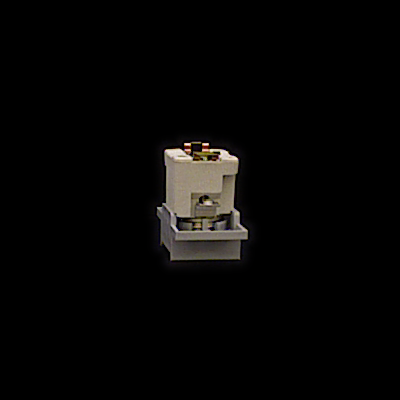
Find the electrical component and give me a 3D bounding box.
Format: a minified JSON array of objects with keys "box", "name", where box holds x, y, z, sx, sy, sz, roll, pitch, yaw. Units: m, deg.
[{"box":[0.000,0.000,0.644,0.042,0.064,0.080,-1,10,-11],"name":"electrical component"}]
